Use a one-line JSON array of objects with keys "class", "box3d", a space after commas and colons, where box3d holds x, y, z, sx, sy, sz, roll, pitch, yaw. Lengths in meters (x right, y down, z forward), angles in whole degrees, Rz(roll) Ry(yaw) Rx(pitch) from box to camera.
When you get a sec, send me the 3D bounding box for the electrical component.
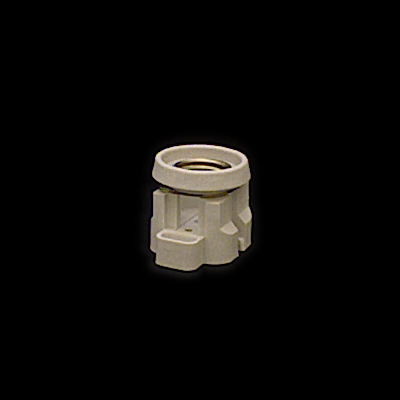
[{"class": "electrical component", "box3d": [0.000, 0.000, 0.641, 0.057, 0.057, 0.078, 10, 23, 23]}]
